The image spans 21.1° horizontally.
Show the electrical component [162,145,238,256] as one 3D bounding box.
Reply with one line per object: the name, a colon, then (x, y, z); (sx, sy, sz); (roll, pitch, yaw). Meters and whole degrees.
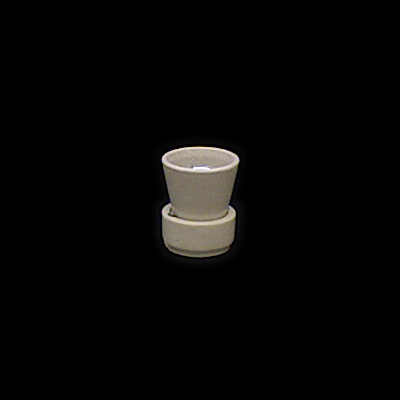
electrical component: (0.000, 0.000, 0.639); (0.045, 0.056, 0.044); (1, 22, 0)
